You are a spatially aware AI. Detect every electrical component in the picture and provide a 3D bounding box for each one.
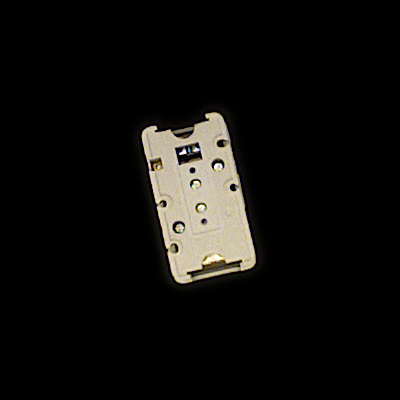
[{"bbox_3d":[0.000,0.000,0.637,0.050,0.090,0.055,-13,-6,0],"label":"electrical component"}]
